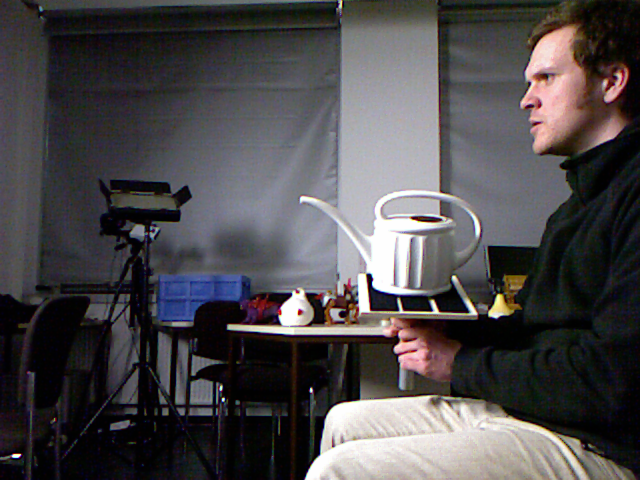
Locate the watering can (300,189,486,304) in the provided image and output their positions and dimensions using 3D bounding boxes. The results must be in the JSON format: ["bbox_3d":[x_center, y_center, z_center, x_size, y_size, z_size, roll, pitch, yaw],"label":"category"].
[{"bbox_3d":[0.135,0.010,0.980,0.348,0.222,0.106,3,18,2],"label":"watering can"}]
